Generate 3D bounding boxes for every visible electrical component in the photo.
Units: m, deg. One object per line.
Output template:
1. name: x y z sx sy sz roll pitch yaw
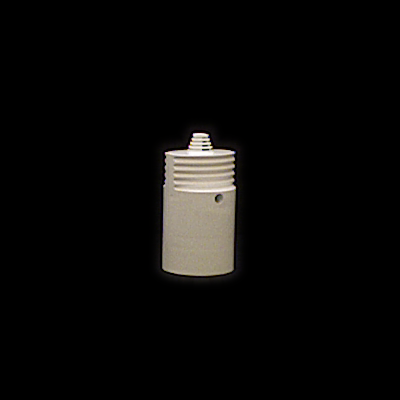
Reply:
1. electrical component: 0.000 0.000 0.642 0.043 0.081 0.043 1 11 0
